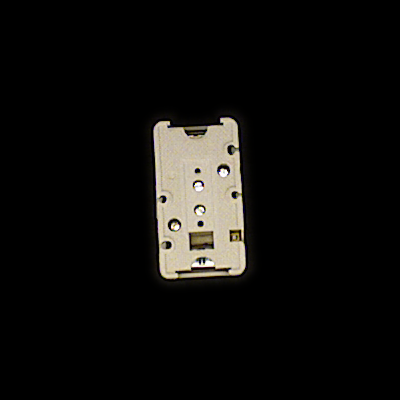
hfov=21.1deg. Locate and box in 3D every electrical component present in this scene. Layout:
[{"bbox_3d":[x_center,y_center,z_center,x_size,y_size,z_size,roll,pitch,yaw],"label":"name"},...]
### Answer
[{"bbox_3d":[0.000,0.000,0.637,0.050,0.090,0.055,-3,-6,-1],"label":"electrical component"}]
